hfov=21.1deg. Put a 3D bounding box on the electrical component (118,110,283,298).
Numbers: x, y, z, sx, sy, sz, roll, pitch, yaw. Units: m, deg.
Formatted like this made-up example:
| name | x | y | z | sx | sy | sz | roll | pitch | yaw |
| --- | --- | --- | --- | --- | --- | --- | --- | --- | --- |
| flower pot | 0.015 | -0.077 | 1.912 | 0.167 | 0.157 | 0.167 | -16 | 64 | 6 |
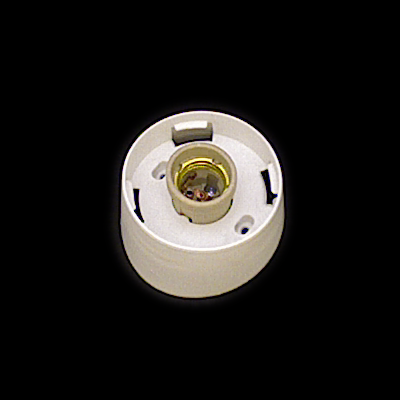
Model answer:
| name | x | y | z | sx | sy | sz | roll | pitch | yaw |
| --- | --- | --- | --- | --- | --- | --- | --- | --- | --- |
| electrical component | 0.000 | 0.000 | 0.625 | 0.099 | 0.099 | 0.064 | 0 | -27 | 0 |
